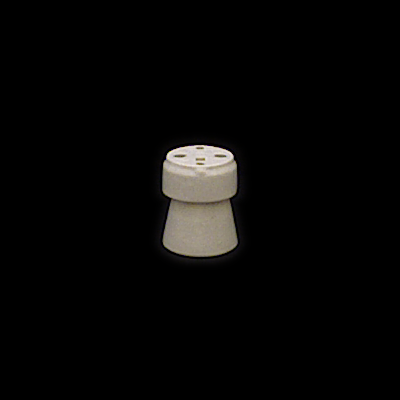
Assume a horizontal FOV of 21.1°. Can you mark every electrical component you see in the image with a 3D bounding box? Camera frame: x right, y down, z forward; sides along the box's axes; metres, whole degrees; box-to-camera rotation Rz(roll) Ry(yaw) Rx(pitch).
[{"bbox_3d":[0.000,0.000,0.640,0.045,0.056,0.044,1,21,0],"label":"electrical component"}]
